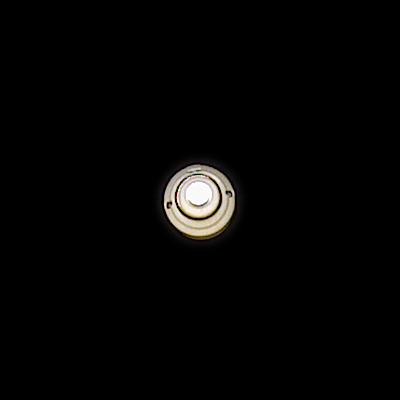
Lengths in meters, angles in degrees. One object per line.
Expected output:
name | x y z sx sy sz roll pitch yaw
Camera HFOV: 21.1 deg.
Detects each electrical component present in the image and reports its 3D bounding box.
electrical component | 0.000 0.000 0.618 0.040 0.040 0.078 0 -5 1
